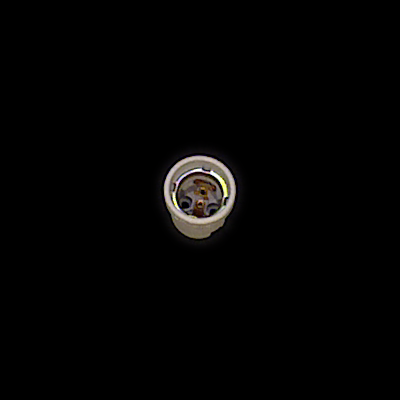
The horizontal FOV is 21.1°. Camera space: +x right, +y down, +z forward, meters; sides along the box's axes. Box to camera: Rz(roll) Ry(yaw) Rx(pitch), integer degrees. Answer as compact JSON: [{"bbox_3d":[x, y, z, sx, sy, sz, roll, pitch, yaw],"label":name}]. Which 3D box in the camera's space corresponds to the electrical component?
[{"bbox_3d":[0.000,0.000,0.626,0.040,0.040,0.046,0,-17,-1],"label":"electrical component"}]
